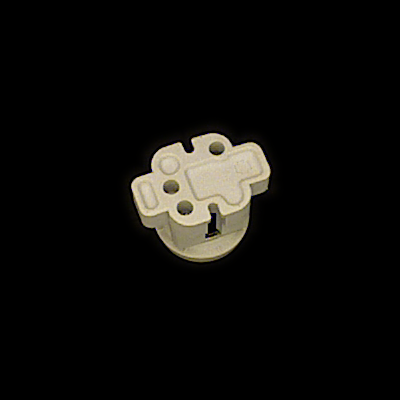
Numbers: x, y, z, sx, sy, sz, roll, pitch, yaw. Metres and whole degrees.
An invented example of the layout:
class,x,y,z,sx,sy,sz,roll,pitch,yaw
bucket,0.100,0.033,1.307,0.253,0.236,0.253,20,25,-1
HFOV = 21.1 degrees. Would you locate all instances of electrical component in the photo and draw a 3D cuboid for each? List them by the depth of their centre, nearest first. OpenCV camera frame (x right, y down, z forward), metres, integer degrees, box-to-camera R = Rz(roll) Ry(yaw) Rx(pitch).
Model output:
class,x,y,z,sx,sy,sz,roll,pitch,yaw
electrical component,0.000,0.000,0.636,0.079,0.057,0.057,-18,-26,-11
